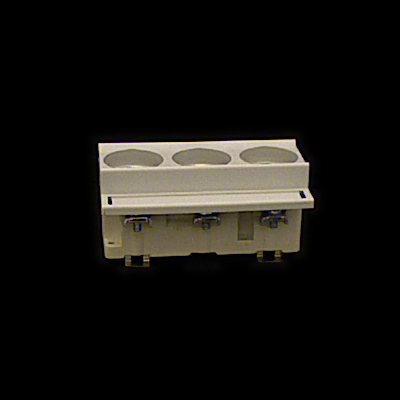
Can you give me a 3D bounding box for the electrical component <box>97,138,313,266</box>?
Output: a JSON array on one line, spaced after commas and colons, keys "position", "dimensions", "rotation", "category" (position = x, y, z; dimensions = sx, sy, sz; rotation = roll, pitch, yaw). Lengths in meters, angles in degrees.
[{"position": [0.000, 0.000, 0.650], "dimensions": [0.121, 0.064, 0.077], "rotation": [-1, 23, -6], "category": "electrical component"}]
